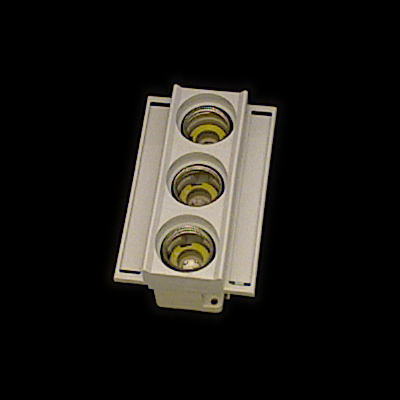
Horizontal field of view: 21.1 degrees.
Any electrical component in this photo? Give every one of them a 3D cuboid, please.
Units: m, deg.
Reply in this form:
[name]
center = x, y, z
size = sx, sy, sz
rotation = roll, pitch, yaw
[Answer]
[electrical component]
center = 0.000, 0.000, 0.637
size = 0.078, 0.121, 0.063
rotation = 6, -26, 5
